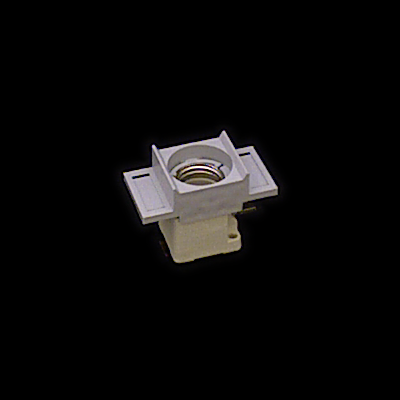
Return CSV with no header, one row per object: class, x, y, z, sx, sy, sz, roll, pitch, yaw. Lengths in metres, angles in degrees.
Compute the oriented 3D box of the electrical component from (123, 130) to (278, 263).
electrical component,0.000,0.000,0.630,0.081,0.064,0.041,-12,42,-14
